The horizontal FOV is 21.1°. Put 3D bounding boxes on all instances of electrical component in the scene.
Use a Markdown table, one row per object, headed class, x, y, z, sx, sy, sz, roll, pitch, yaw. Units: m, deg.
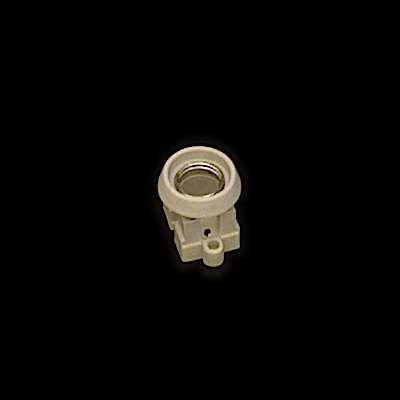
| class | x | y | z | sx | sy | sz | roll | pitch | yaw |
| --- | --- | --- | --- | --- | --- | --- | --- | --- | --- |
| electrical component | 0.000 | 0.000 | 0.638 | 0.049 | 0.066 | 0.055 | -14 | -36 | -13 |
